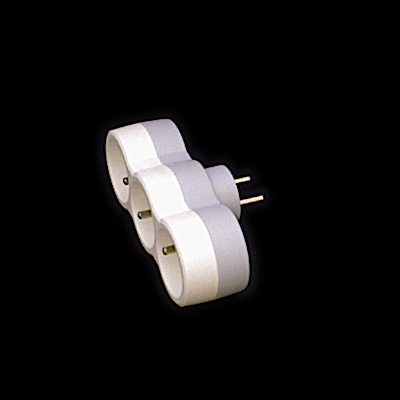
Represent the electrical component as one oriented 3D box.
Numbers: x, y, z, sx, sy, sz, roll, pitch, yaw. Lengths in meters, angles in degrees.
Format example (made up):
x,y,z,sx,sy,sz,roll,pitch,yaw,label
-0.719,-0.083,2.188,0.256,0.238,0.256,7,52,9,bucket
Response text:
x,y,z,sx,sy,sz,roll,pitch,yaw,label
0.000,0.000,0.635,0.074,0.052,0.137,-14,43,-19,electrical component
